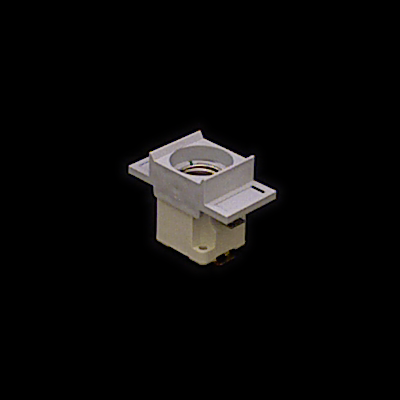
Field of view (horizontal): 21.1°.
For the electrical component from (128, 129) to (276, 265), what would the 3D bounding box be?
[{"bbox_3d":[0.000,0.000,0.634,0.080,0.064,0.042,28,42,36],"label":"electrical component"}]
